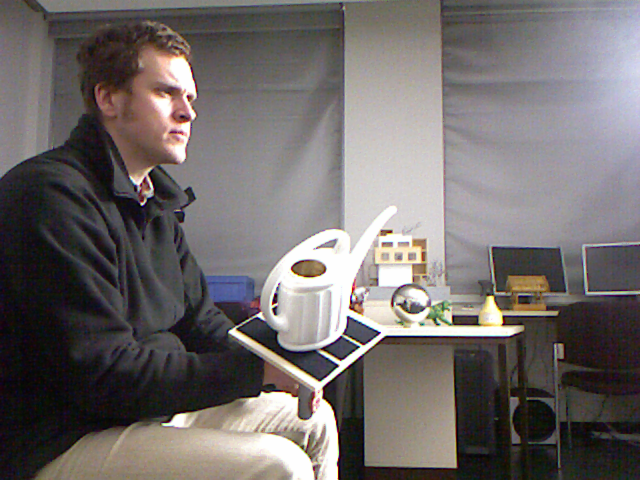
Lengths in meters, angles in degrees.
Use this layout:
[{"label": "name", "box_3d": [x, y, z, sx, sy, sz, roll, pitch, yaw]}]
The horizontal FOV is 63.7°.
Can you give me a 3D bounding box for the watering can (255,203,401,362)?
[{"label": "watering can", "box_3d": [0.025, 0.071, 0.894, 0.105, 0.220, 0.352, 29, 39, 34]}]
